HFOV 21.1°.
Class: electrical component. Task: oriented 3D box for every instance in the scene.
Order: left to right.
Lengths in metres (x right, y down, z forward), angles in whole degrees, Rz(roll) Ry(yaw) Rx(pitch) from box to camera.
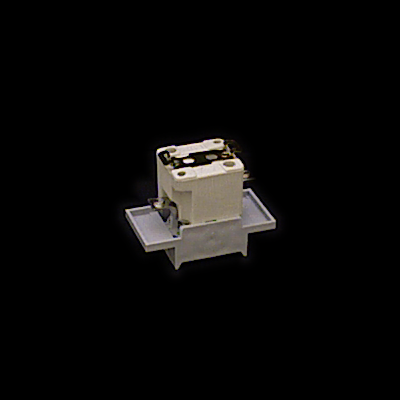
[{"bbox_3d":[0.000,0.000,0.633,0.081,0.064,0.041,-10,33,-18],"label":"electrical component"}]
